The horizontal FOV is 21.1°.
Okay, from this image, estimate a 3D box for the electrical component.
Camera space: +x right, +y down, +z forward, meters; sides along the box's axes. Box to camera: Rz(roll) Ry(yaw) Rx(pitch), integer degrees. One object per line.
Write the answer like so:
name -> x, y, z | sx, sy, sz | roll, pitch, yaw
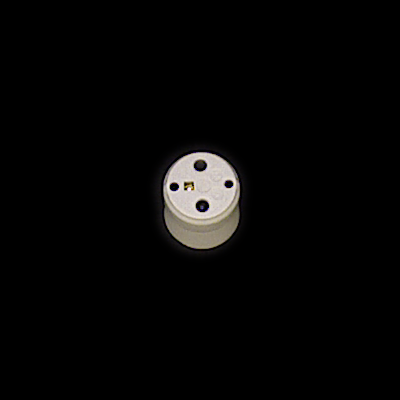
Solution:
electrical component -> 0.000, 0.000, 0.629 | 0.045, 0.045, 0.055 | 0, -17, 0
